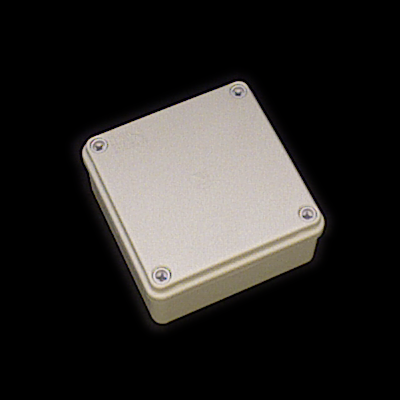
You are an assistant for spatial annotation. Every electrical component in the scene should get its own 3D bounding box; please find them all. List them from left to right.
[{"bbox_3d":[0.000,0.000,0.629,0.109,0.109,0.056,-22,-25,-11],"label":"electrical component"}]
